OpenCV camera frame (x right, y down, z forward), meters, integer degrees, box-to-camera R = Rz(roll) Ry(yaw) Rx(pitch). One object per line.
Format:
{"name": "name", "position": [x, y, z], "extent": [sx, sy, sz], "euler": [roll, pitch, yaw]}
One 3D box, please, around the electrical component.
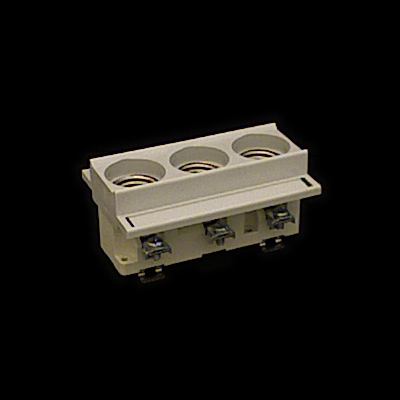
{"name": "electrical component", "position": [0.000, 0.000, 0.647], "extent": [0.122, 0.064, 0.077], "euler": [-13, 33, -20]}
